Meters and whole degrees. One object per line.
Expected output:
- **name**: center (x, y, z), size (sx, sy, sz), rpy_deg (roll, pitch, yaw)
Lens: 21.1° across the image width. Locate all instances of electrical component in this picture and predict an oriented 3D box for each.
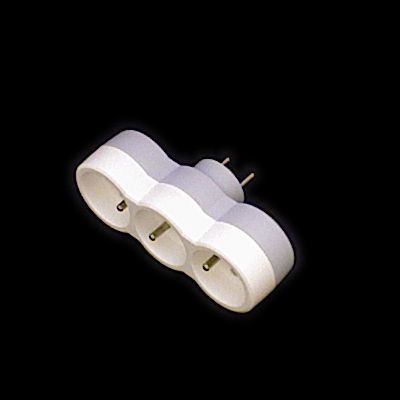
- **electrical component**: center (0.000, 0.000, 0.632), size (0.137, 0.052, 0.074), rpy_deg (33, 57, 23)
